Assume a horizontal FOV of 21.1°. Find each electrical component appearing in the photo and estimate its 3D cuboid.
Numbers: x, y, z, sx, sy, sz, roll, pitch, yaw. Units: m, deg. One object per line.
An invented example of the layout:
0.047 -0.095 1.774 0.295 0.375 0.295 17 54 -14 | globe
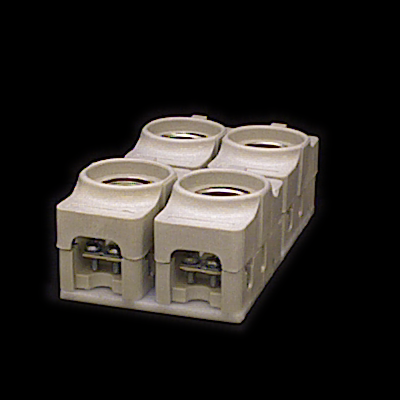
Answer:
0.000 0.000 0.639 0.105 0.061 0.184 7 21 17 | electrical component
